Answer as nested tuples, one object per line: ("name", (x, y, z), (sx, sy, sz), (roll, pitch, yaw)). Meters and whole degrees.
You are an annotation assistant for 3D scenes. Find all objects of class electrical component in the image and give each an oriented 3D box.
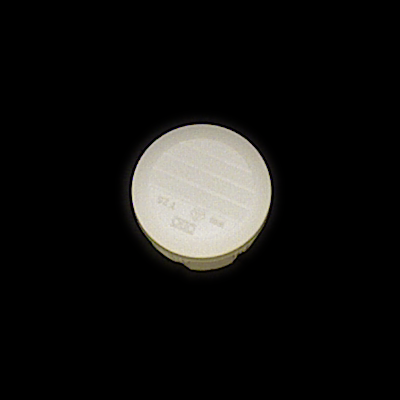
("electrical component", (0.000, 0.000, 0.630), (0.080, 0.080, 0.050), (0, -17, 0))
